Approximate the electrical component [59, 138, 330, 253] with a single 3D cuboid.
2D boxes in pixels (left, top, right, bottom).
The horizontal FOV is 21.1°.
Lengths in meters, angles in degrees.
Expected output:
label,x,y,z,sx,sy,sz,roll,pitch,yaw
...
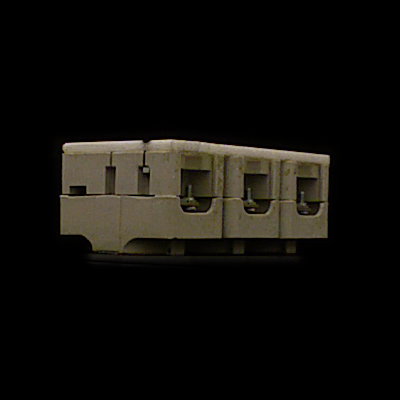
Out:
label,x,y,z,sx,sy,sz,roll,pitch,yaw
electrical component,0.000,0.000,0.653,0.089,0.062,0.150,1,-1,41
